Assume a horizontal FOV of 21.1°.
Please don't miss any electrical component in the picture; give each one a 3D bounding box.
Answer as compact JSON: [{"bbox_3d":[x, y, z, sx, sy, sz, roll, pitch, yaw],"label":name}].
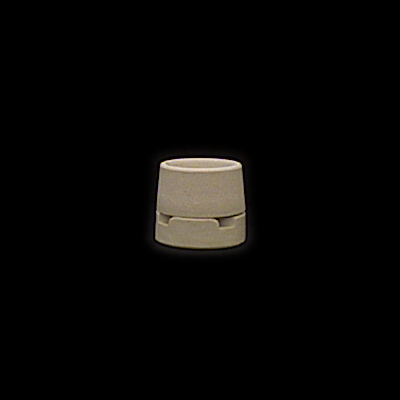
[{"bbox_3d":[0.000,0.000,0.646,0.055,0.047,0.055,0,10,0],"label":"electrical component"}]
